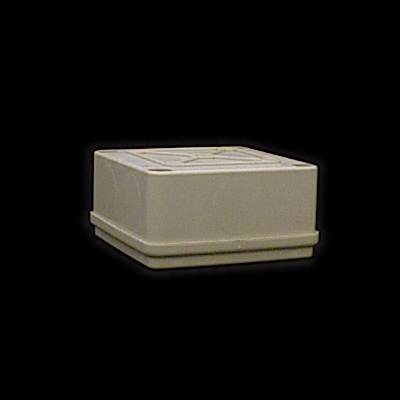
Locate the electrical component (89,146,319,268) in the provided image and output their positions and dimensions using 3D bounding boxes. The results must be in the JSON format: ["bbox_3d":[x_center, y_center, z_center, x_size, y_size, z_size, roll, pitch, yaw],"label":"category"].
[{"bbox_3d":[0.000,0.000,0.647,0.109,0.056,0.107,-3,11,-24],"label":"electrical component"}]
